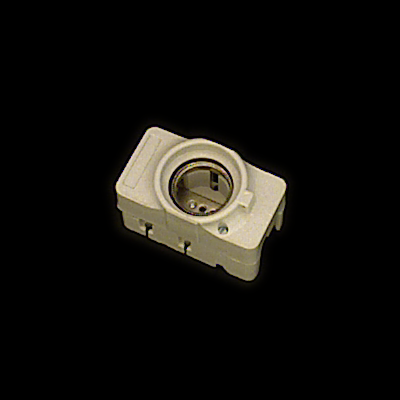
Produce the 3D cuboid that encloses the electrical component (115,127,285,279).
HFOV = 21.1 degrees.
[{"bbox_3d":[0.000,0.000,0.635,0.089,0.050,0.055,23,-24,11],"label":"electrical component"}]
